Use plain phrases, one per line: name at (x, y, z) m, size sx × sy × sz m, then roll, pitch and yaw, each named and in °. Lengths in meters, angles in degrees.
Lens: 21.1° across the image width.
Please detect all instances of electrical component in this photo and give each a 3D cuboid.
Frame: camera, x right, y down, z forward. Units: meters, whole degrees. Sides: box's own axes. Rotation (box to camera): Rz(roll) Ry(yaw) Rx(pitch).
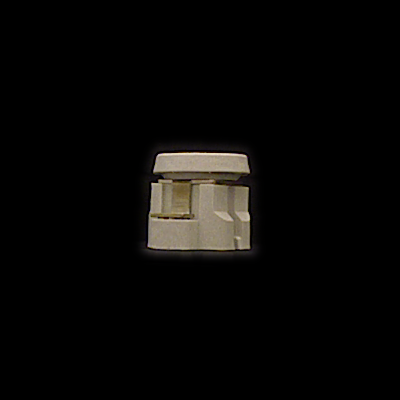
electrical component at (0.000, 0.000, 0.648) m, size 0.057 × 0.057 × 0.079 m, roll 2°, pitch 1°, yaw 30°
